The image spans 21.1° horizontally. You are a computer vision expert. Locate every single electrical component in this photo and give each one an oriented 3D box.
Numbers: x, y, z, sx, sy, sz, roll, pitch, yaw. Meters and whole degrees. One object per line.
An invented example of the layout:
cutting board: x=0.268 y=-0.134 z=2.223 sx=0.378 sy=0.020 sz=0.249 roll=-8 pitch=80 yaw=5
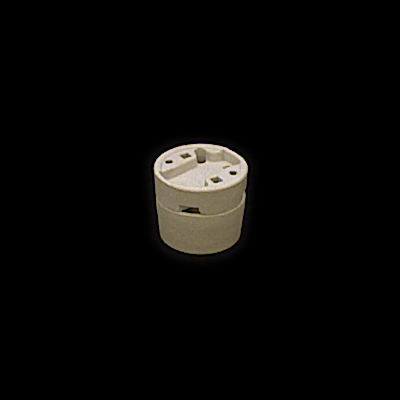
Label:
electrical component: x=0.000 y=0.000 z=0.637 sx=0.055 sy=0.047 sz=0.055 roll=1 pitch=31 yaw=0
